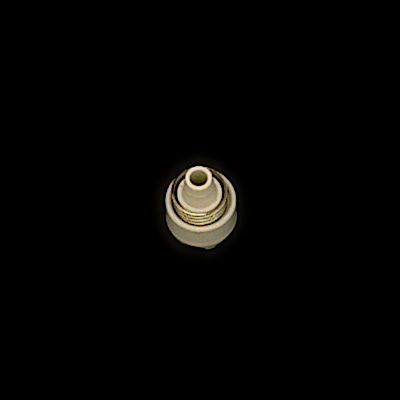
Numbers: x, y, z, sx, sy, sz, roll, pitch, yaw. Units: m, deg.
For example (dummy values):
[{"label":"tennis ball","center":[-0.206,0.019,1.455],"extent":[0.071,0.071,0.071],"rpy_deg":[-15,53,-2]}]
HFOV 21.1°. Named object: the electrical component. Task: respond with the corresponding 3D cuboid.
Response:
[{"label":"electrical component","center":[0.000,0.000,0.633],"extent":[0.043,0.043,0.062],"rpy_deg":[0,-26,2]}]
